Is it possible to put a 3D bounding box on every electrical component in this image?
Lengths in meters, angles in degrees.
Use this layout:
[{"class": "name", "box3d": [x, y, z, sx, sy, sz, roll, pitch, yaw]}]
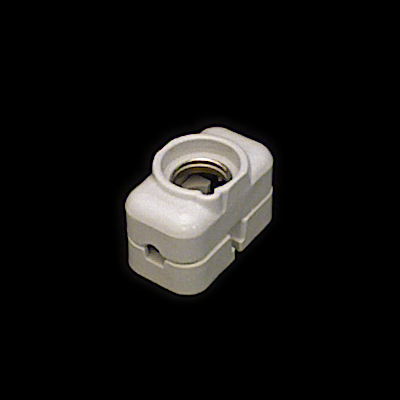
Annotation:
[{"class": "electrical component", "box3d": [0.000, 0.000, 0.637, 0.053, 0.060, 0.095, 25, 48, 25]}]
